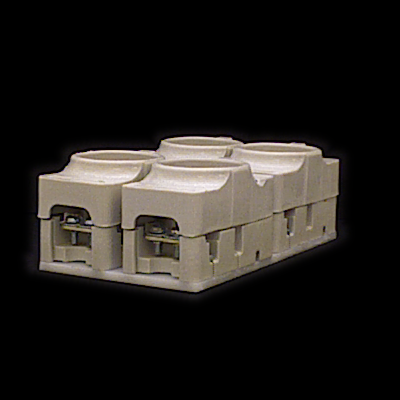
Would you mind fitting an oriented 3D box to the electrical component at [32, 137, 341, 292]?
[{"bbox_3d":[0.000,0.000,0.645,0.105,0.060,0.186,7,11,30],"label":"electrical component"}]
